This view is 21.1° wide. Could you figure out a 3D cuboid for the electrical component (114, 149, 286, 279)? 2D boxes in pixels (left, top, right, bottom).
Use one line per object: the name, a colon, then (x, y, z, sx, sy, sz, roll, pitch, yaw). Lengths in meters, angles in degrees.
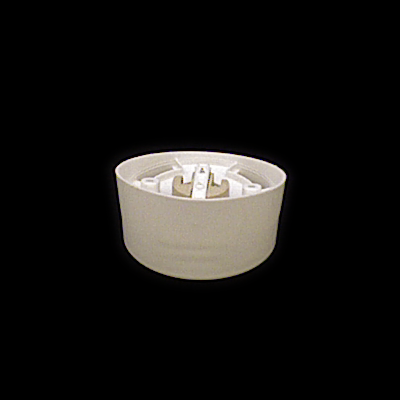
electrical component: (0.000, 0.000, 0.632, 0.099, 0.065, 0.097, 1, 32, -1)
